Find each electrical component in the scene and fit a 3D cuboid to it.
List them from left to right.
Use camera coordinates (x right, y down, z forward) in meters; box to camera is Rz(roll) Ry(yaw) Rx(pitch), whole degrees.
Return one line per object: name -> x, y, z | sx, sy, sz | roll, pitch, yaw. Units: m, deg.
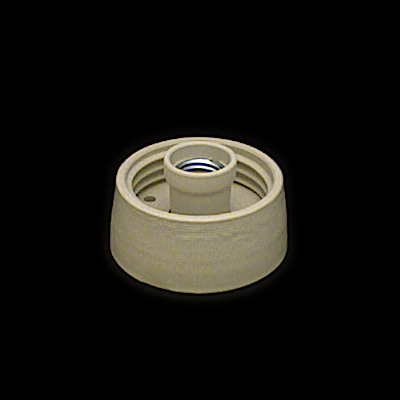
electrical component -> 0.000, 0.000, 0.639 | 0.108, 0.061, 0.106 | 1, 32, 0
